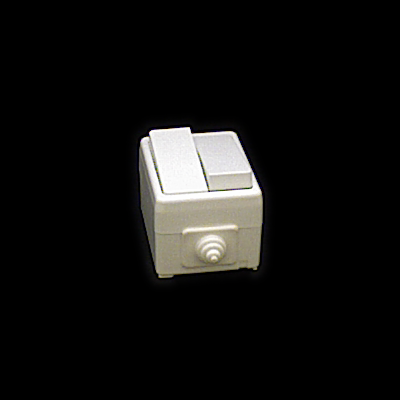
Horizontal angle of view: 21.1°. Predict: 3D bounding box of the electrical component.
[{"bbox_3d":[0.000,0.000,0.632,0.062,0.061,0.095,-4,31,-8],"label":"electrical component"}]
